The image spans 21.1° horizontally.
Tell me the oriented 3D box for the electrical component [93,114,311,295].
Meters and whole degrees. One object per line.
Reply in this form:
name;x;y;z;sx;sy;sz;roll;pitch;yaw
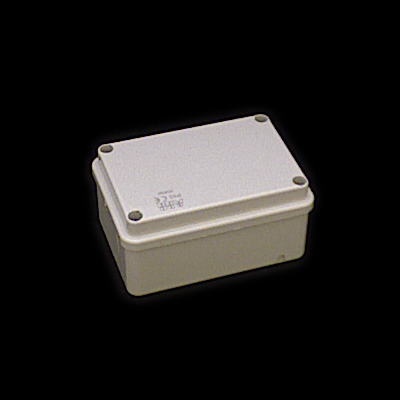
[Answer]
electrical component;0.000;0.000;0.629;0.113;0.057;0.077;-12;44;-14
